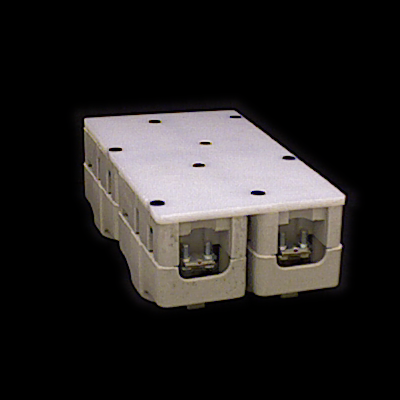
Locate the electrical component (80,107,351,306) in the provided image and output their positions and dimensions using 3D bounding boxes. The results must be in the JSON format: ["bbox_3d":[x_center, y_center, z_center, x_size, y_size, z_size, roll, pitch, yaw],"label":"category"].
[{"bbox_3d":[0.000,0.000,0.638,0.105,0.061,0.183,-5,21,-17],"label":"electrical component"}]
